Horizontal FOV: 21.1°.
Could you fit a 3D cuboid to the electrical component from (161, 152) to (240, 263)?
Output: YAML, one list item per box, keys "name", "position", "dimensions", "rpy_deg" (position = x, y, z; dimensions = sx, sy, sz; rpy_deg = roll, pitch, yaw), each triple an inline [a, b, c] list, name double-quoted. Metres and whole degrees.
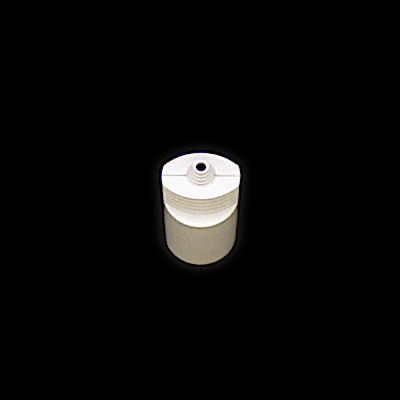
- name: "electrical component"
  position: [0.000, 0.000, 0.617]
  dimensions: [0.043, 0.043, 0.081]
  rpy_deg: [0, -27, 0]
